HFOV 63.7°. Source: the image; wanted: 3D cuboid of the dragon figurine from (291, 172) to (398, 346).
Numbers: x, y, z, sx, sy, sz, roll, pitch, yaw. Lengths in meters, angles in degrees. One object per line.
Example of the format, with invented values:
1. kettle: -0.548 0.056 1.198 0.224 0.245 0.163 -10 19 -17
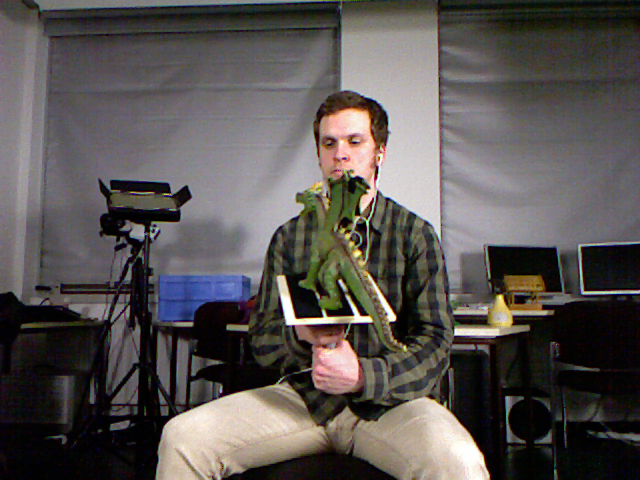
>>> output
1. dragon figurine: 0.044 -0.002 0.956 0.123 0.239 0.416 -9 24 -25
